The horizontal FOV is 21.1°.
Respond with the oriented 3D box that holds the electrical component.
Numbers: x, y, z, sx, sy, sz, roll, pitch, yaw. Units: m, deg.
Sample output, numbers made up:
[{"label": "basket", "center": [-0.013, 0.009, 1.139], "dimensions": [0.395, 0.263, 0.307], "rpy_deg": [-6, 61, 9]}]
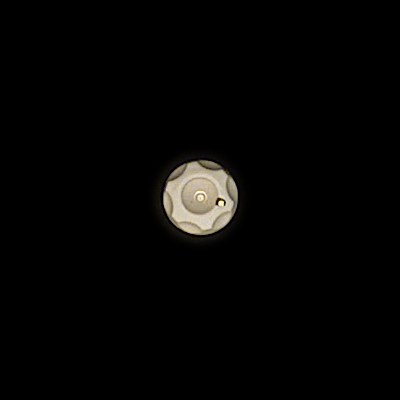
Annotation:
[{"label": "electrical component", "center": [0.000, 0.000, 0.635], "dimensions": [0.043, 0.043, 0.062], "rpy_deg": [0, -5, 2]}]
